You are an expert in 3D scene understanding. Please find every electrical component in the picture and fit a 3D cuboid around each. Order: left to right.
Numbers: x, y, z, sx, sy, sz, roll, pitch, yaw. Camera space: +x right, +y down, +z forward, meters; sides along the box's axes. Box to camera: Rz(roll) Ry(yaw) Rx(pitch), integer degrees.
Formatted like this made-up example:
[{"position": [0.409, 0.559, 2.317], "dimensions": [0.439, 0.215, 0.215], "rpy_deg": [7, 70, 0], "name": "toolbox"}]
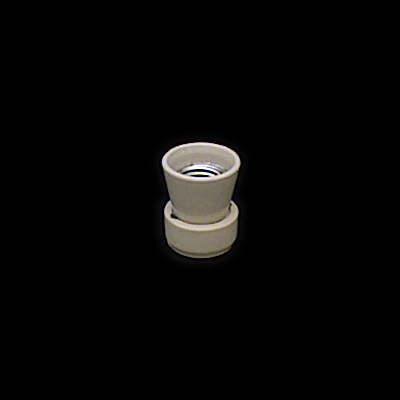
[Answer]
[{"position": [0.000, 0.000, 0.635], "dimensions": [0.045, 0.056, 0.044], "rpy_deg": [1, 31, 0], "name": "electrical component"}]
